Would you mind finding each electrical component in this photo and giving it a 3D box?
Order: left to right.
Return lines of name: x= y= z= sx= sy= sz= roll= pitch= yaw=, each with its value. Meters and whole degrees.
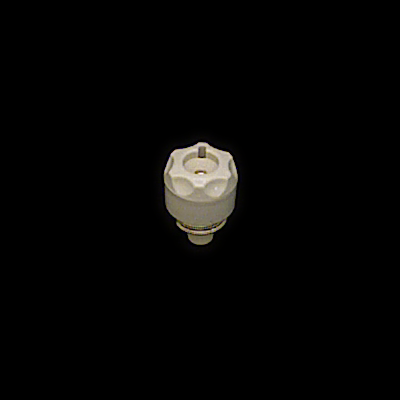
electrical component: x=0.000 y=0.000 z=0.637 sx=0.043 sy=0.062 sz=0.043 roll=1 pitch=43 yaw=0
